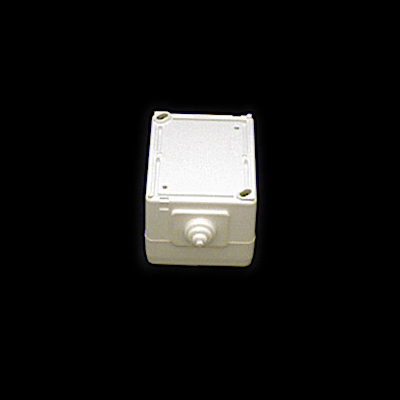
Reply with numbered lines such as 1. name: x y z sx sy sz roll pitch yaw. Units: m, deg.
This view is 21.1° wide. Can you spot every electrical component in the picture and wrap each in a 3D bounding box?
1. electrical component: 0.000 0.000 0.625 0.062 0.061 0.096 1 41 0
